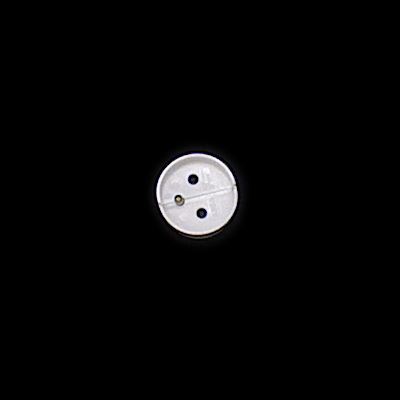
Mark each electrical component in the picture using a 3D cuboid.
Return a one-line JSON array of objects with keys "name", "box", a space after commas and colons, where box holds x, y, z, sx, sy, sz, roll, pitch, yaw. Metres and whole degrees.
[{"name": "electrical component", "box": [0.000, 0.000, 0.615, 0.043, 0.043, 0.080, 0, -6, 1]}]
